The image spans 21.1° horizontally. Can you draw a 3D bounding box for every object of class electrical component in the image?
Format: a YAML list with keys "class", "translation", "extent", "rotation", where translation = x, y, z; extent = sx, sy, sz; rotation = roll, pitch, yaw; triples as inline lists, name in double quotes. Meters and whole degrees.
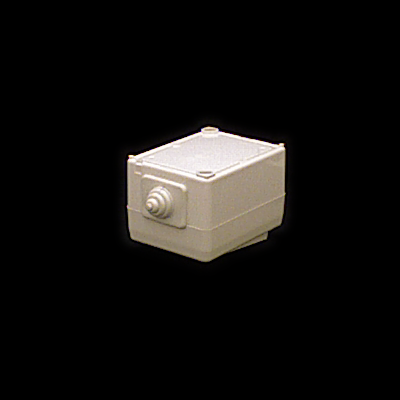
- class: "electrical component"
  translation: [0.000, 0.000, 0.640]
  extent: [0.061, 0.061, 0.096]
  rotation: [16, 26, 34]
